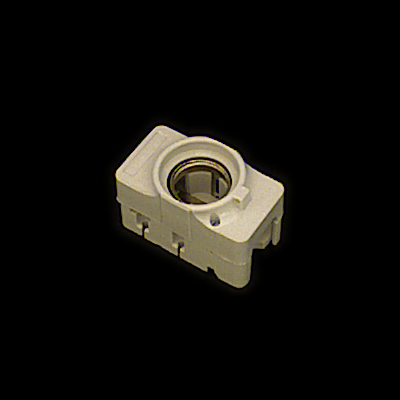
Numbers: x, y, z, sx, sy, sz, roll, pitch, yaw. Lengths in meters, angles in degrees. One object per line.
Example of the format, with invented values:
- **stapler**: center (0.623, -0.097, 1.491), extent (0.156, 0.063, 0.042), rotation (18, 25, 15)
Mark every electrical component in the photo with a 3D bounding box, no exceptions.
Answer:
- **electrical component**: center (0.000, 0.000, 0.637), extent (0.089, 0.050, 0.056), rotation (27, -32, 18)
